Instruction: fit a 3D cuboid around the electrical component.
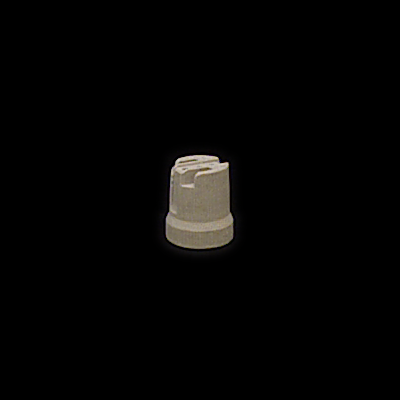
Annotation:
[{"bbox_3d":[0.000,0.000,0.642,0.040,0.046,0.040,1,21,0],"label":"electrical component"}]
